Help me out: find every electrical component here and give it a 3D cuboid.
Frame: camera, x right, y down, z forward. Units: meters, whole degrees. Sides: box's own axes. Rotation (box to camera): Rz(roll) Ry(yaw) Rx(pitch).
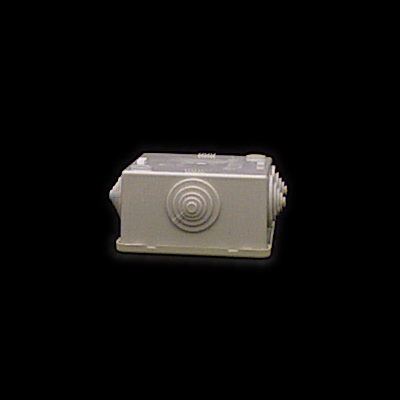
[{"bbox_3d":[0.000,0.000,0.646,0.099,0.049,0.099,2,10,5],"label":"electrical component"}]
